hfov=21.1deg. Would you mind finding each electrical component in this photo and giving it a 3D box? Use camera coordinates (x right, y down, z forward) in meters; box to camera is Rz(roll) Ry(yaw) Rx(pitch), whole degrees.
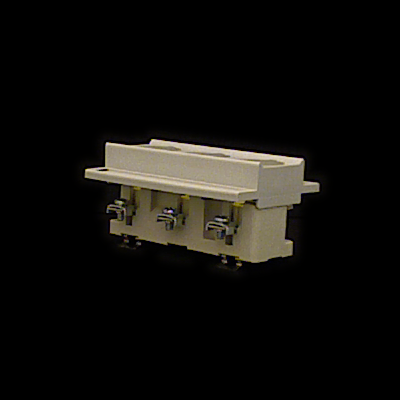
[{"bbox_3d":[0.000,0.000,0.659,0.120,0.063,0.079,10,13,40],"label":"electrical component"}]
